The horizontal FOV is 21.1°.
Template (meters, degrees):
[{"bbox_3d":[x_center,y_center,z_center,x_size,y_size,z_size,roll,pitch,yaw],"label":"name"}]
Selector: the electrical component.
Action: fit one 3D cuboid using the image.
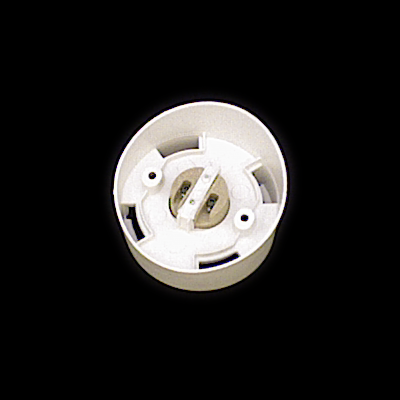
[{"bbox_3d":[0.000,0.000,0.625,0.099,0.099,0.064,0,-28,0],"label":"electrical component"}]
